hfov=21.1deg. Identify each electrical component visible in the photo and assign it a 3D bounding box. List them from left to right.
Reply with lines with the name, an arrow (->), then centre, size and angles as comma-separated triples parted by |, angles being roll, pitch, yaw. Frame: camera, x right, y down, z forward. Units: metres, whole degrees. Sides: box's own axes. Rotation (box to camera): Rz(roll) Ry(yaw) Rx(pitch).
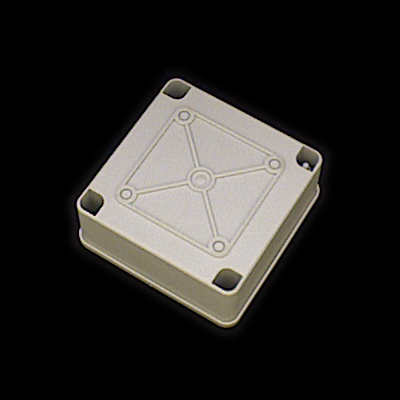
electrical component -> 0.000, 0.000, 0.629 | 0.108, 0.109, 0.056 | 29, -24, 13
